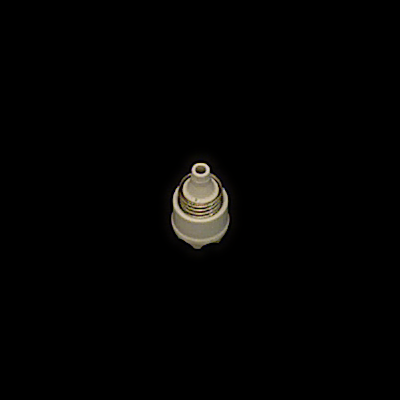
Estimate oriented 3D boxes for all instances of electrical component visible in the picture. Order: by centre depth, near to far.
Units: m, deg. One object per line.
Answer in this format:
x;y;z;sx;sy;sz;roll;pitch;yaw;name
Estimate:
0.000;0.000;0.641;0.035;0.035;0.062;0;-36;-1;electrical component
